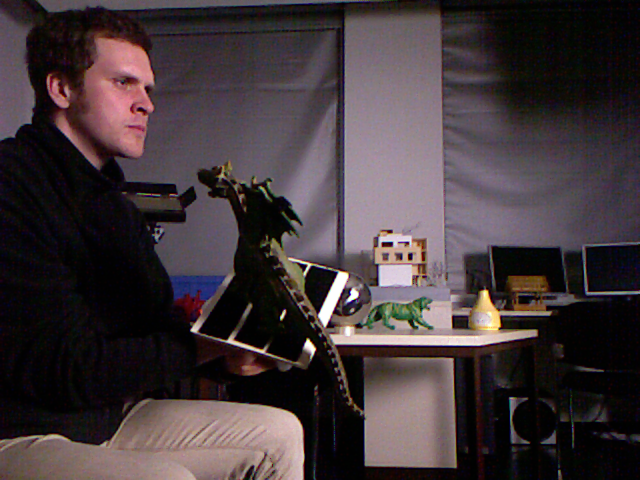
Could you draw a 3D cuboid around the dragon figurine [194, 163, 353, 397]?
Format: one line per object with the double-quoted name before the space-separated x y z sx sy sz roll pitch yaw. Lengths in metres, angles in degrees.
"dragon figurine" -0.071 0.025 0.771 0.124 0.237 0.417 -31 54 -23
